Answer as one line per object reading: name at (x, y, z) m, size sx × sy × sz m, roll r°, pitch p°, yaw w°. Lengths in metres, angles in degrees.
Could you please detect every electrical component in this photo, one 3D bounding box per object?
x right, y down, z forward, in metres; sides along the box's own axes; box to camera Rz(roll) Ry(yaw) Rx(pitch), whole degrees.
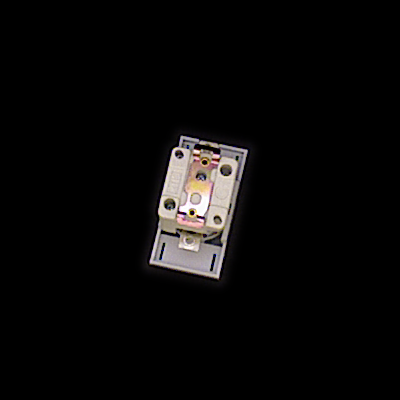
electrical component at (0.000, 0.000, 0.625) m, size 0.042 × 0.081 × 0.063 m, roll 12°, pitch -17°, yaw 3°
